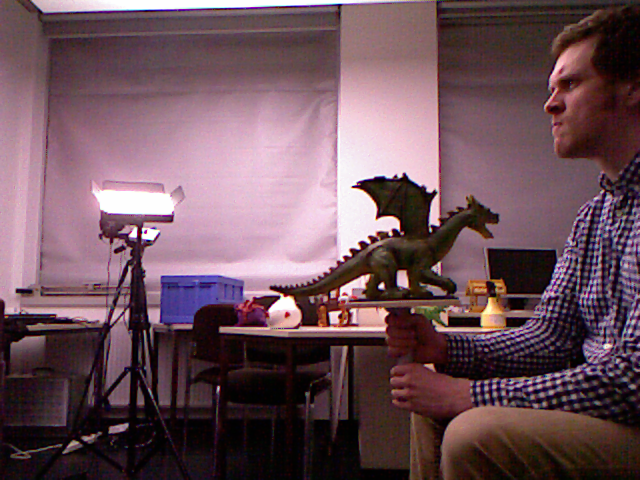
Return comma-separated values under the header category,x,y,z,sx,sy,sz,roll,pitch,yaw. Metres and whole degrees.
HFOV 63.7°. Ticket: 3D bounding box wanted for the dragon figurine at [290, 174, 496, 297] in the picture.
category,x,y,z,sx,sy,sz,roll,pitch,yaw
dragon figurine,0.138,-0.007,1.014,0.410,0.244,0.122,-2,-5,7
